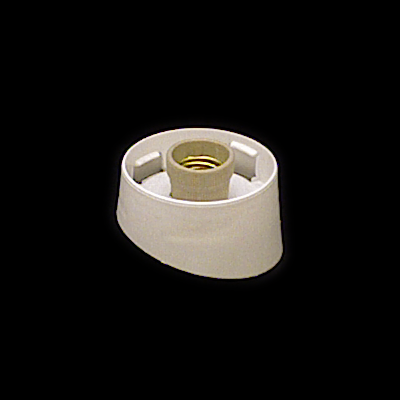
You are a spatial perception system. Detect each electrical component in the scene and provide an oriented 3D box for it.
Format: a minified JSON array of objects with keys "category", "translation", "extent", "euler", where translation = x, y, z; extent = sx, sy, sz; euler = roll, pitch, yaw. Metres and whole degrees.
[{"category":"electrical component","translation":[0.000,0.000,0.633],"extent":[0.099,0.065,0.097],"euler":[1,31,0]}]
